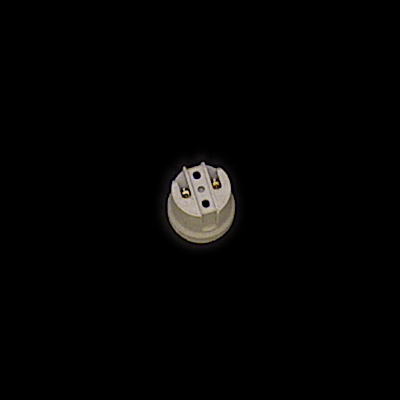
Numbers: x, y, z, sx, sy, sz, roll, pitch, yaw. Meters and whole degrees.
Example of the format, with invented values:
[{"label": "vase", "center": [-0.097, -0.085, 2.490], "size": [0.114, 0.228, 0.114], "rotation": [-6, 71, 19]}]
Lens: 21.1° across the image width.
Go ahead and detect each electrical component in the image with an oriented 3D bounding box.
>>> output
[{"label": "electrical component", "center": [0.000, 0.000, 0.634], "size": [0.040, 0.040, 0.046], "rotation": [0, -16, 0]}]
